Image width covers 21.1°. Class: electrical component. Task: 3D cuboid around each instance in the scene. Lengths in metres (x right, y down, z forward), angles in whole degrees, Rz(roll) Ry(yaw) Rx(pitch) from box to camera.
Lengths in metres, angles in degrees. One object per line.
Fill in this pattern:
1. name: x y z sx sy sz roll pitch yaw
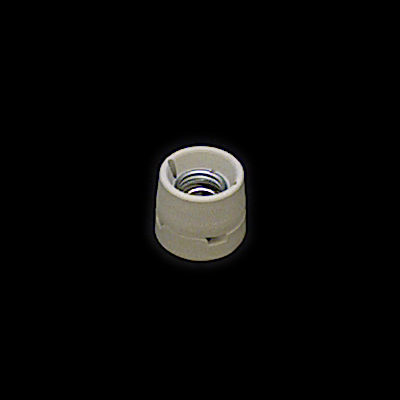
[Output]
1. electrical component: 0.000 0.000 0.635 0.055 0.047 0.055 1 43 -1
